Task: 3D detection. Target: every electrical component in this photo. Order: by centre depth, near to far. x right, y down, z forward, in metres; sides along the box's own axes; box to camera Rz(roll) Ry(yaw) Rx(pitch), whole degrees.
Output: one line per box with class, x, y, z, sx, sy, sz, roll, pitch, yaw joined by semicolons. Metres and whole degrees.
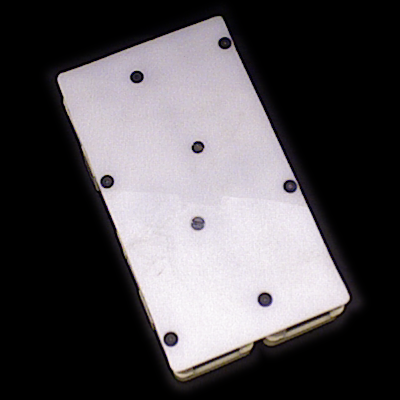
electrical component;0.000;0.000;0.625;0.106;0.187;0.060;-22;-15;-6
